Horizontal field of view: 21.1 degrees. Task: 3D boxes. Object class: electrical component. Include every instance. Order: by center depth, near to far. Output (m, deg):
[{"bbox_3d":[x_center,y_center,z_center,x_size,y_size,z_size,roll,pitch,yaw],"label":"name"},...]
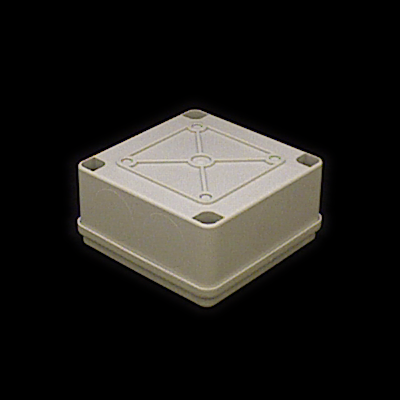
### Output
[{"bbox_3d":[0.000,0.000,0.637,0.107,0.057,0.108,25,38,34],"label":"electrical component"}]
